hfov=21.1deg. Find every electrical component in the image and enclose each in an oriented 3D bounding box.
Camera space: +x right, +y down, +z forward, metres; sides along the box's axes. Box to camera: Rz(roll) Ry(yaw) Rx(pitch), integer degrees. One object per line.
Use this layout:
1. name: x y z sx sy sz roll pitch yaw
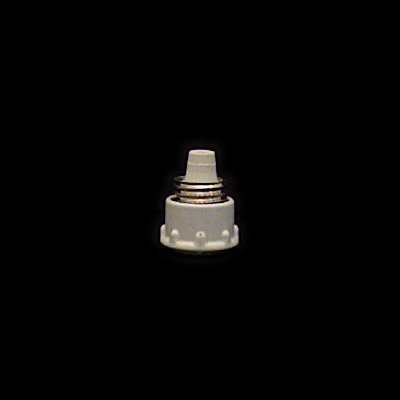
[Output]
1. electrical component: 0.000 0.000 0.652 0.048 0.062 0.048 2 11 0
